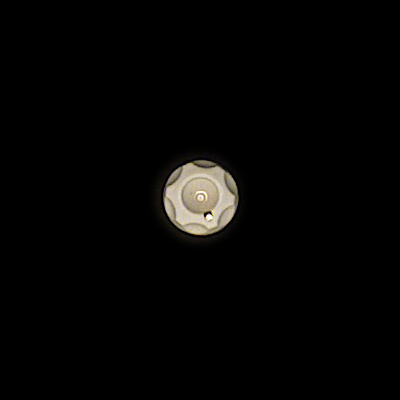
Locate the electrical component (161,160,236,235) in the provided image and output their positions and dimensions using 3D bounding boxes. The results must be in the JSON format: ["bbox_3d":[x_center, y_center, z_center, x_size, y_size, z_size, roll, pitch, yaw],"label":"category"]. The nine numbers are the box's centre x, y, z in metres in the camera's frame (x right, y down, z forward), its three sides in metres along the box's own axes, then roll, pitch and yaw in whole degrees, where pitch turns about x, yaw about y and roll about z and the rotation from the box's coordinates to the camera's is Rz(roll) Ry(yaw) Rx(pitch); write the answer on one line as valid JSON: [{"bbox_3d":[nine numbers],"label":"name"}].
[{"bbox_3d":[0.000,0.000,0.635,0.043,0.043,0.062,0,-6,2],"label":"electrical component"}]
